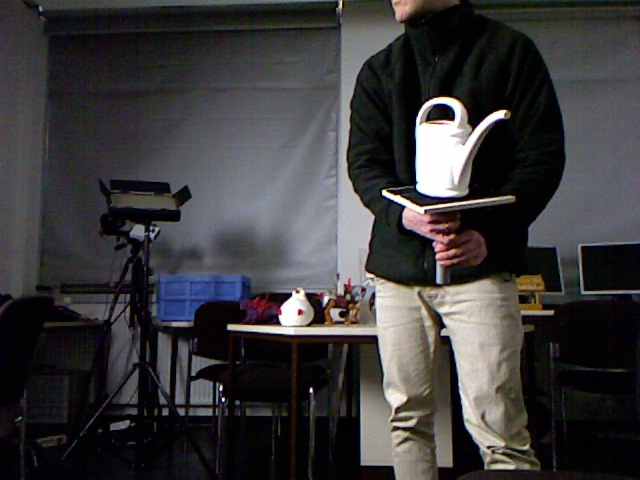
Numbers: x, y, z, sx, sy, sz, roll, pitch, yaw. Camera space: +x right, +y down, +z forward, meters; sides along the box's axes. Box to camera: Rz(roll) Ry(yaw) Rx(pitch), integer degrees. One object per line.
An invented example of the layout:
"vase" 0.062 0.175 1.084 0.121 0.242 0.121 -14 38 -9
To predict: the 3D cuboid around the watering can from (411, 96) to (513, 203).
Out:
"watering can" 0.272 -0.177 1.049 0.105 0.222 0.353 -10 19 -14
